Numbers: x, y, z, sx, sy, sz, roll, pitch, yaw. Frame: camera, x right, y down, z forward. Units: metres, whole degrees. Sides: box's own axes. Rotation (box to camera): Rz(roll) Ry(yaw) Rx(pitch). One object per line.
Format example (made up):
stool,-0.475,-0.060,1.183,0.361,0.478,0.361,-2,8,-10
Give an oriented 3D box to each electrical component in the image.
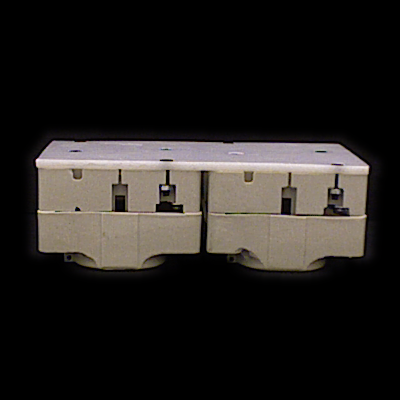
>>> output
electrical component,0.000,0.000,0.644,0.186,0.061,0.104,1,10,-3
